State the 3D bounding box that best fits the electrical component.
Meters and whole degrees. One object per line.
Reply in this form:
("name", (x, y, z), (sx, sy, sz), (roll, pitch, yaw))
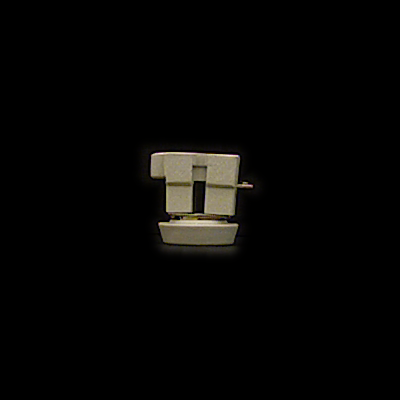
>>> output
("electrical component", (0.000, 0.000, 0.655), (0.066, 0.055, 0.048), (2, 1, 3))
